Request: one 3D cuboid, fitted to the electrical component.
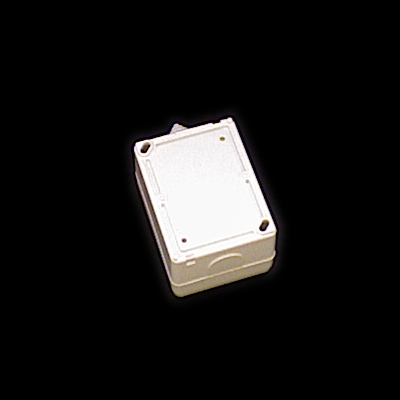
[{"bbox_3d":[0.000,0.000,0.628,0.062,0.096,0.061,-16,-27,-8],"label":"electrical component"}]
